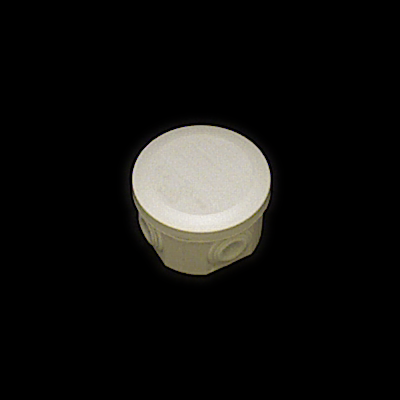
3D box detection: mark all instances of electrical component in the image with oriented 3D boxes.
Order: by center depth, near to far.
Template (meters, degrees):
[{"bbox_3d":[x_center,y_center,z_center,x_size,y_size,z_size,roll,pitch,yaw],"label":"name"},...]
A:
[{"bbox_3d":[0.000,0.000,0.632,0.080,0.080,0.051,0,-38,0],"label":"electrical component"}]
